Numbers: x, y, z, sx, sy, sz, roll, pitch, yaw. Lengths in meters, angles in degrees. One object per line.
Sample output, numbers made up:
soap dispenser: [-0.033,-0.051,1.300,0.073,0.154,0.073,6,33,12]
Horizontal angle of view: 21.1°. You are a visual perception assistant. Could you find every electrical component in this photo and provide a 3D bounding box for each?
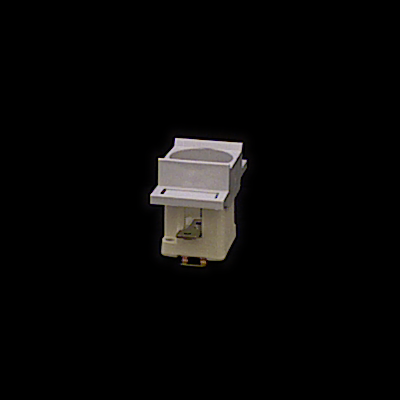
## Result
electrical component: [0.000,0.000,0.635,0.042,0.064,0.080,6,21,11]
